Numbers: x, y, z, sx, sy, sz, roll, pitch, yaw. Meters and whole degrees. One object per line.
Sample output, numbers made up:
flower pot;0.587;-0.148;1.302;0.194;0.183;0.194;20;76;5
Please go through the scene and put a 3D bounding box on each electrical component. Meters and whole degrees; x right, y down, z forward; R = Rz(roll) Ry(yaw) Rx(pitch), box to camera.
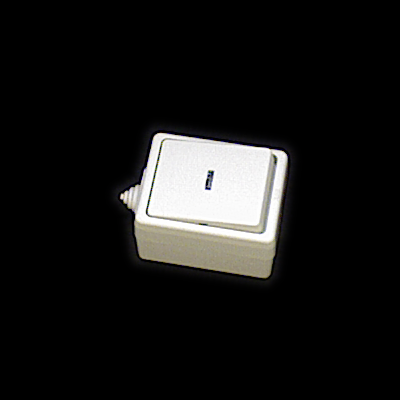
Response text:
electrical component;0.000;0.000;0.626;0.096;0.062;0.061;9;-27;4
